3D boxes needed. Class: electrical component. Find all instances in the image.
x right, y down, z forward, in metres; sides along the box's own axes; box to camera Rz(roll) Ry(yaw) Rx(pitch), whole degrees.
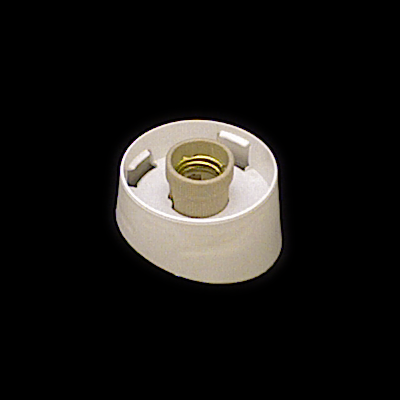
[{"bbox_3d":[0.000,0.000,0.629,0.099,0.064,0.098,1,42,-1],"label":"electrical component"}]
